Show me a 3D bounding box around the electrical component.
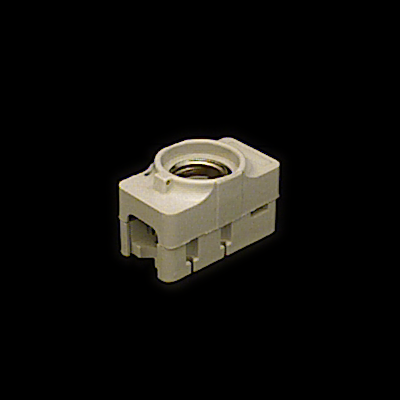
[{"bbox_3d":[0.000,0.000,0.643,0.090,0.056,0.049,-25,40,-36],"label":"electrical component"}]
